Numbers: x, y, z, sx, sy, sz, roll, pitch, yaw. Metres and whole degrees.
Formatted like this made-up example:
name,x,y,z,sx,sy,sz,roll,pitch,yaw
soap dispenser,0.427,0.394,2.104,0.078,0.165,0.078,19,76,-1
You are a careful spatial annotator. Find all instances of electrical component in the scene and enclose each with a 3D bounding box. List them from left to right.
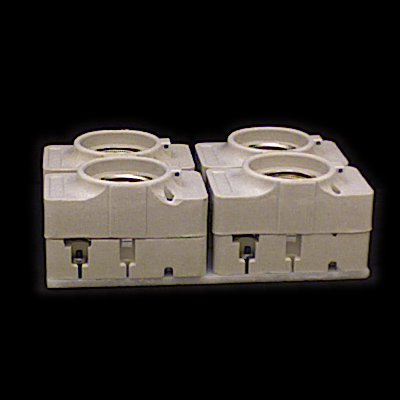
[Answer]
name,x,y,z,sx,sy,sz,roll,pitch,yaw
electrical component,0.000,0.000,0.640,0.186,0.061,0.104,-1,20,-7
